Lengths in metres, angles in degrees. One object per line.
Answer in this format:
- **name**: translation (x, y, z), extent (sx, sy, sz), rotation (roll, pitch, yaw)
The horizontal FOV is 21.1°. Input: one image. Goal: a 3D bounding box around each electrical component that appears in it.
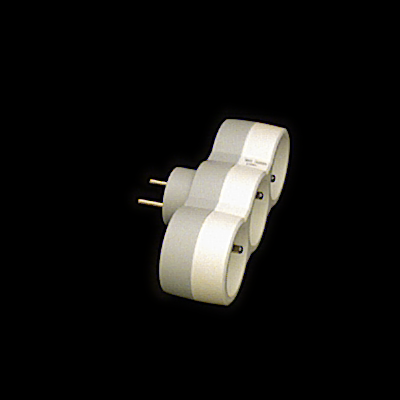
- **electrical component**: translation (0.000, 0.000, 0.642), extent (0.073, 0.053, 0.137), rotation (12, 44, 14)
